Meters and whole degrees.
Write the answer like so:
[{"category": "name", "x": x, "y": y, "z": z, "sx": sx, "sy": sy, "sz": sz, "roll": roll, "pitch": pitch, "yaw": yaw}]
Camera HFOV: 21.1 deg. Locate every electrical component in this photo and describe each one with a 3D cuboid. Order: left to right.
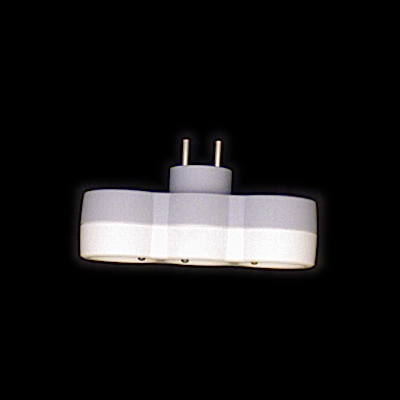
[{"category": "electrical component", "x": 0.000, "y": 0.000, "z": 0.632, "sx": 0.138, "sy": 0.074, "sz": 0.052, "roll": 2, "pitch": -9, "yaw": 1}]
